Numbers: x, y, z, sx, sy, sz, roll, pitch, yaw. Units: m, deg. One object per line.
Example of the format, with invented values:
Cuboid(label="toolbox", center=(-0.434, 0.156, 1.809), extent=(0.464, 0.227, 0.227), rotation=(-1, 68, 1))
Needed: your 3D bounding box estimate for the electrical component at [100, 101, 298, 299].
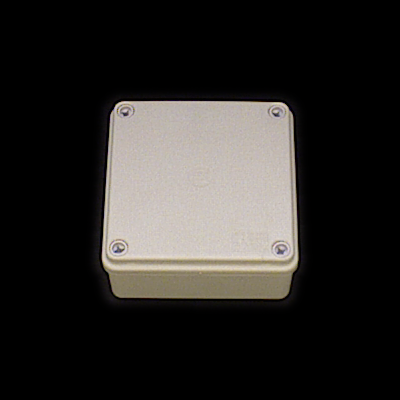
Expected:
Cuboid(label="electrical component", center=(0.000, 0.000, 0.630), extent=(0.109, 0.109, 0.056), rotation=(0, -28, 0))
